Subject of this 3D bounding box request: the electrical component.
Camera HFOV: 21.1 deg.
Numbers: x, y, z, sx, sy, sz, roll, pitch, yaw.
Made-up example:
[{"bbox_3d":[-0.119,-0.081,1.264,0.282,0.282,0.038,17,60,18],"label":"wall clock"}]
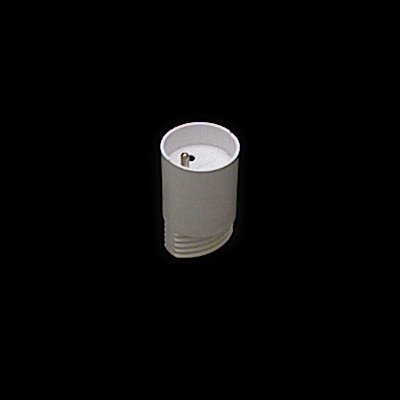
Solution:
[{"bbox_3d":[0.000,0.000,0.620,0.043,0.082,0.042,0,41,0],"label":"electrical component"}]
